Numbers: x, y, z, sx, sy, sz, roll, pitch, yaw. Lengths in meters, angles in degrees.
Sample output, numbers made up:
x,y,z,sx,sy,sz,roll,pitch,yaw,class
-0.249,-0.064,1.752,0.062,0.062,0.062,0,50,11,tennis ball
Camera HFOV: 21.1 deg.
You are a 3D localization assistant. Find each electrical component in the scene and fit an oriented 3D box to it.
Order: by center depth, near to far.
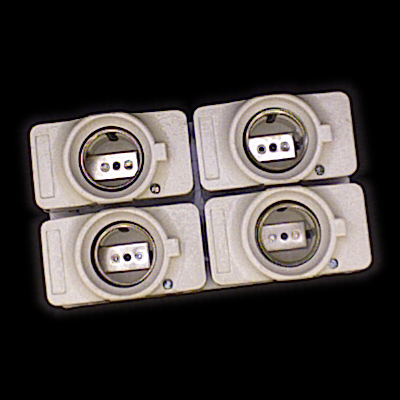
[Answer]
x,y,z,sx,sy,sz,roll,pitch,yaw,class
0.000,0.000,0.627,0.186,0.106,0.060,-7,-7,-1,electrical component
